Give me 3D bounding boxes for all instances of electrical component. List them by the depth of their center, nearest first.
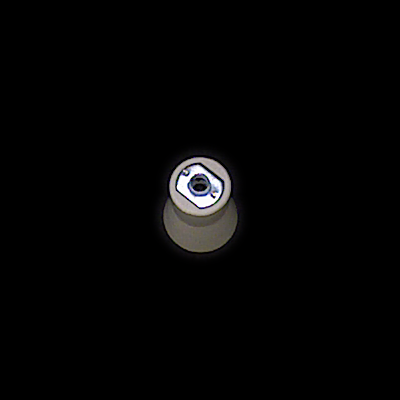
[{"bbox_3d":[0.000,0.000,0.625,0.044,0.044,0.065,0,-18,-1],"label":"electrical component"}]
